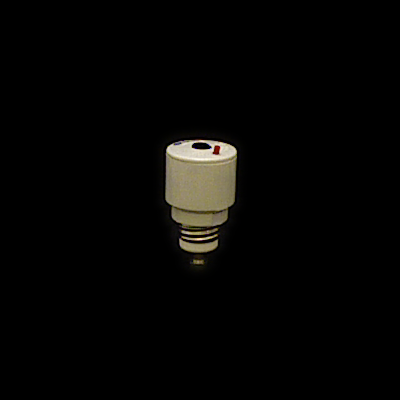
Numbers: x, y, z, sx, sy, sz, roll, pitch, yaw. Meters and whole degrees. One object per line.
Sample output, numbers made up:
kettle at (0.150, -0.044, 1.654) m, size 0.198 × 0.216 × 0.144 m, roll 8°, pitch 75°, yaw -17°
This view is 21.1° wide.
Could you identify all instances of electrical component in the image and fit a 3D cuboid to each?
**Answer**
electrical component at (0.000, 0.000, 0.633) m, size 0.040 × 0.079 × 0.039 m, roll 1°, pitch 21°, yaw 0°
